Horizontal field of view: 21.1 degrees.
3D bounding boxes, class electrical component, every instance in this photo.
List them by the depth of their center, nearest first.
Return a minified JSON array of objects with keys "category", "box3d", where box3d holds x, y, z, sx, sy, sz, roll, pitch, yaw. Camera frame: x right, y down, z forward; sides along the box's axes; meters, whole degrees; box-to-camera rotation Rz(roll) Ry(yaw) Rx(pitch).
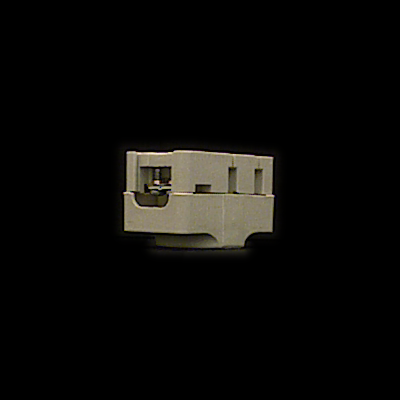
[{"category":"electrical component","box3d":[0.000,0.000,0.657,0.049,0.056,0.090,2,1,39]}]
